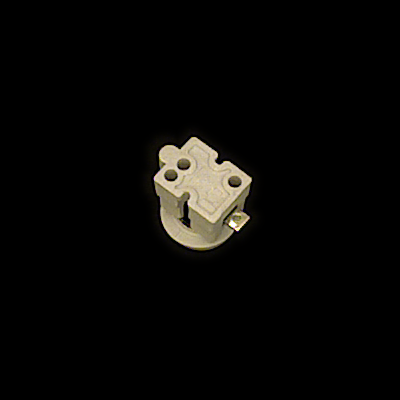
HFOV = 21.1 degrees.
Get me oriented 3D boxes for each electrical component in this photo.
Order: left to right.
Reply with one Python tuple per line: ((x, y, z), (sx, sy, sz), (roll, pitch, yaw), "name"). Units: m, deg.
((0.000, 0.000, 0.637), (0.066, 0.049, 0.055), (37, -22, 16), "electrical component")
